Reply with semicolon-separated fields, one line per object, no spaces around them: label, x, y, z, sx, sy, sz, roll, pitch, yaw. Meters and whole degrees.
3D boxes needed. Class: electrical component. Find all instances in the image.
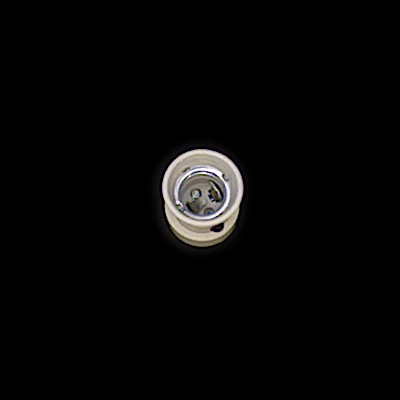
electrical component;0.000;0.000;0.628;0.045;0.045;0.055;0;-17;0
